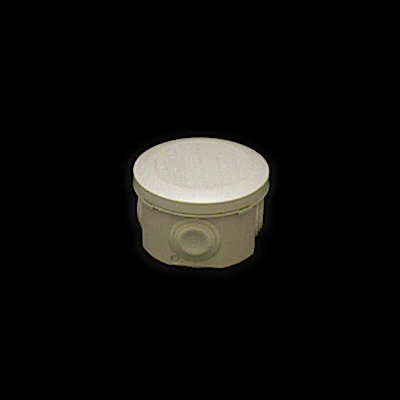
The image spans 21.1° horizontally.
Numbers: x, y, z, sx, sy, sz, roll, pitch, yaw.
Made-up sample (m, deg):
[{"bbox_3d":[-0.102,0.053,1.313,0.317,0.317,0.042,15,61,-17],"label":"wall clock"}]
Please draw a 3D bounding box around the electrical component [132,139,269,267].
[{"bbox_3d":[0.000,0.000,0.639,0.080,0.051,0.079,1,31,0],"label":"electrical component"}]
